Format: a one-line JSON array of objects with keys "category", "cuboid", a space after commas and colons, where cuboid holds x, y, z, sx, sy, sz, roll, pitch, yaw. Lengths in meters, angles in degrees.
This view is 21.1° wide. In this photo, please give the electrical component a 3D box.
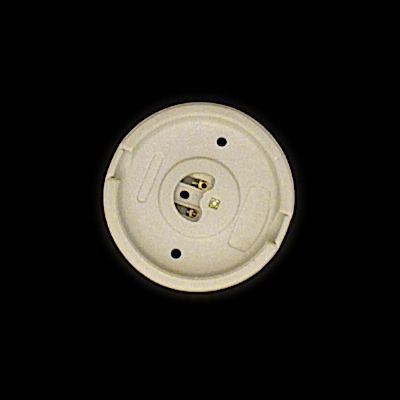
[{"category": "electrical component", "cuboid": [0.000, 0.000, 0.635, 0.108, 0.108, 0.060, 0, -6, 0]}]
